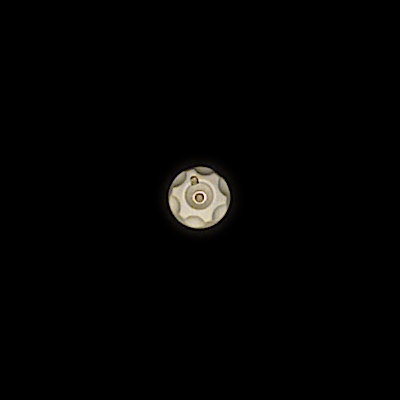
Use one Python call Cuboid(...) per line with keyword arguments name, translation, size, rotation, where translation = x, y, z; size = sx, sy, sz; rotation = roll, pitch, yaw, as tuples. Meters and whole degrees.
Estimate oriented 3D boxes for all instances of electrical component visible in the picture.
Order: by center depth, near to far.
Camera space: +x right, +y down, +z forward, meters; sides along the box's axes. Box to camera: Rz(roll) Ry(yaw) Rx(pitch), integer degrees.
Cuboid(name="electrical component", translation=(0.000, 0.000, 0.635), size=(0.035, 0.035, 0.061), rotation=(0, -6, 1))
